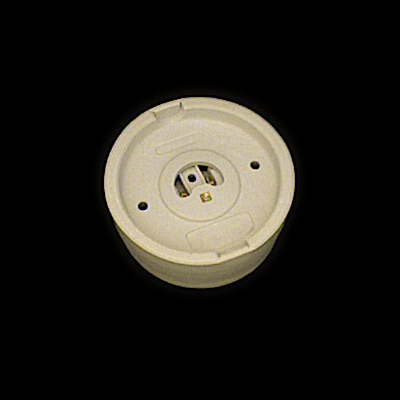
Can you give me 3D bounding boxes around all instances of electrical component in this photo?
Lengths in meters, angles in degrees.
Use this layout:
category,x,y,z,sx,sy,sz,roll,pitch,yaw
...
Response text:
category,x,y,z,sx,sy,sz,roll,pitch,yaw
electrical component,0.000,0.000,0.633,0.108,0.108,0.060,0,-27,0
